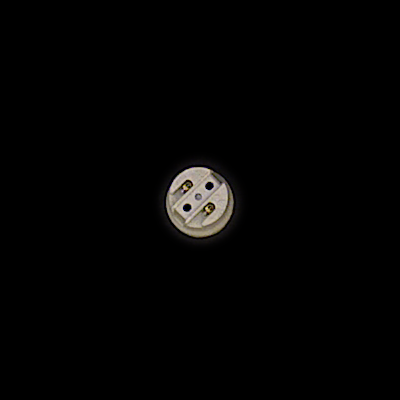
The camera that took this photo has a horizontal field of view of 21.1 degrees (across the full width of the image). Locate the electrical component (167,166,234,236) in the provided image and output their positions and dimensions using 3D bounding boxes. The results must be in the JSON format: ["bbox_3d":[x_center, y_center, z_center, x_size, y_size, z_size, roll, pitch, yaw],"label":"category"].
[{"bbox_3d":[0.000,0.000,0.634,0.040,0.040,0.046,0,-7,0],"label":"electrical component"}]
